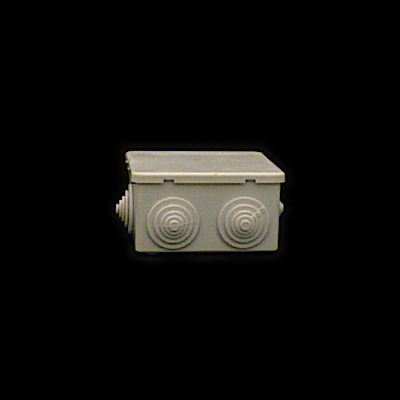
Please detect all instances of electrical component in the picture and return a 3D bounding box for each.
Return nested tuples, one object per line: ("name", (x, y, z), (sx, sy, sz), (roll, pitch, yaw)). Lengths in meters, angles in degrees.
("electrical component", (0.000, 0.000, 0.654), (0.100, 0.049, 0.098), (0, 11, -7))
